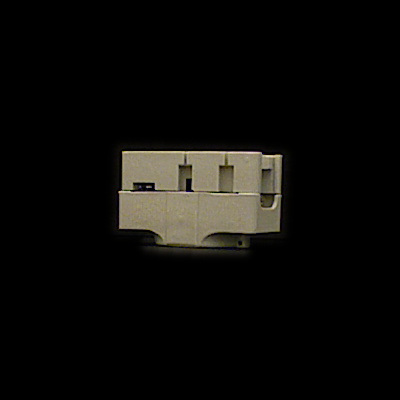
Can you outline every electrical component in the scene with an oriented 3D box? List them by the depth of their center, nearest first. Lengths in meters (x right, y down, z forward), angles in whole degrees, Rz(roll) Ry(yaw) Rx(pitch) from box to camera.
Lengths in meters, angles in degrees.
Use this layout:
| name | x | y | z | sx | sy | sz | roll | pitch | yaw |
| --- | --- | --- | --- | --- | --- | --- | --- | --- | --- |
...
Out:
| name | x | y | z | sx | sy | sz | roll | pitch | yaw |
| --- | --- | --- | --- | --- | --- | --- | --- | --- | --- |
| electrical component | 0.000 | 0.000 | 0.657 | 0.089 | 0.056 | 0.050 | 2 | 1 | 24 |
